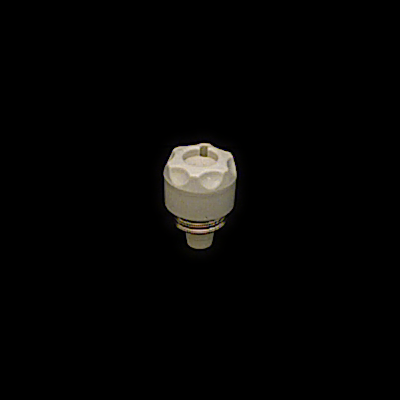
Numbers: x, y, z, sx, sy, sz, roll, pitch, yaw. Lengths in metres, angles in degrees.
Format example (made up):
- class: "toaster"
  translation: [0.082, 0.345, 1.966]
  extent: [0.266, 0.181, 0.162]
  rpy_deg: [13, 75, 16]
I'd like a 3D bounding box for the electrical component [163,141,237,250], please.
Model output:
- class: "electrical component"
  translation: [0.000, 0.000, 0.641]
  extent: [0.043, 0.063, 0.043]
  rpy_deg: [1, 33, 0]
